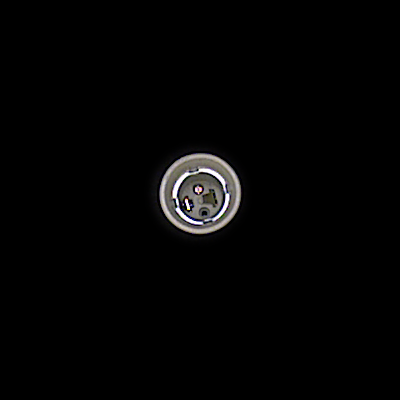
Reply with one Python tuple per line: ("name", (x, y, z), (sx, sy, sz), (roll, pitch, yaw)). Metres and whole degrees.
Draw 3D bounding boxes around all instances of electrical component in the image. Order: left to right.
("electrical component", (0.000, 0.000, 0.625), (0.044, 0.044, 0.065), (0, -7, 1))
